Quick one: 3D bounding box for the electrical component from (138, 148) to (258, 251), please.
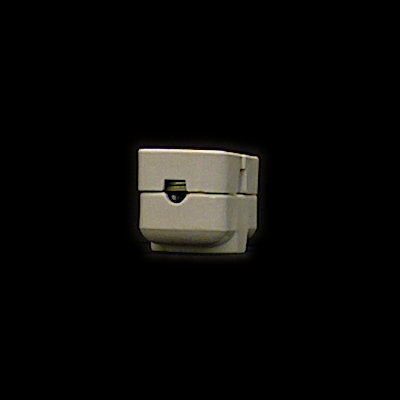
[{"bbox_3d":[0.000,0.000,0.656,0.053,0.059,0.096,2,1,17],"label":"electrical component"}]
